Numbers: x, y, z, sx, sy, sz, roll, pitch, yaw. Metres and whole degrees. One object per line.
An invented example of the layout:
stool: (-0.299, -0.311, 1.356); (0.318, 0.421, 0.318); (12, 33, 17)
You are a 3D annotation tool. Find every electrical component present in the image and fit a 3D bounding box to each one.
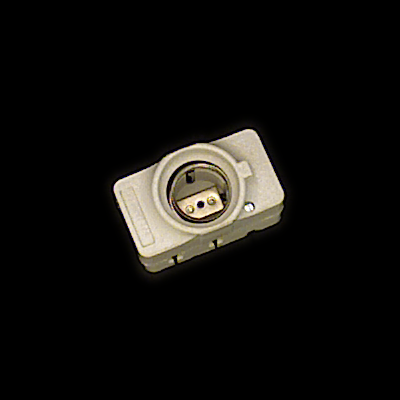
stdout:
electrical component: (0.000, 0.000, 0.636); (0.090, 0.050, 0.055); (-23, -15, -6)
